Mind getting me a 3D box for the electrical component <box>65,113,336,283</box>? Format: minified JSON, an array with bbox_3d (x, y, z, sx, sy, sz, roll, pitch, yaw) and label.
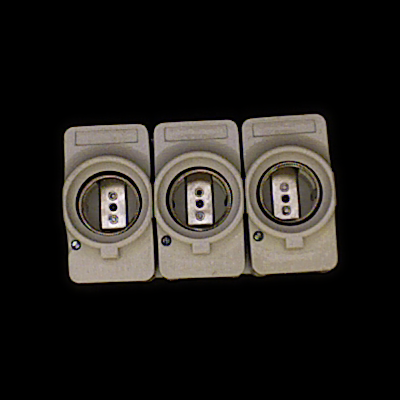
[{"bbox_3d":[0.000,0.000,0.632,0.150,0.089,0.061,-3,-5,0],"label":"electrical component"}]
